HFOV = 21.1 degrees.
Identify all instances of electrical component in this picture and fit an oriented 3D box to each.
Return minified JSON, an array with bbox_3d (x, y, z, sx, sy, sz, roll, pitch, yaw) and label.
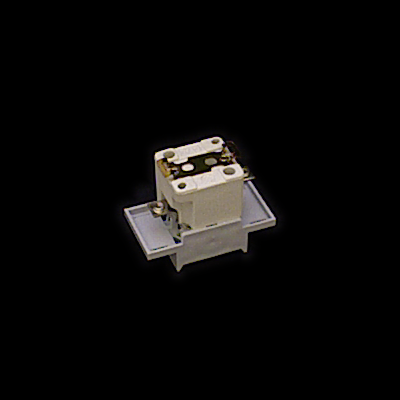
[{"bbox_3d":[0.000,0.000,0.629,0.081,0.064,0.042,-15,45,-17],"label":"electrical component"}]
